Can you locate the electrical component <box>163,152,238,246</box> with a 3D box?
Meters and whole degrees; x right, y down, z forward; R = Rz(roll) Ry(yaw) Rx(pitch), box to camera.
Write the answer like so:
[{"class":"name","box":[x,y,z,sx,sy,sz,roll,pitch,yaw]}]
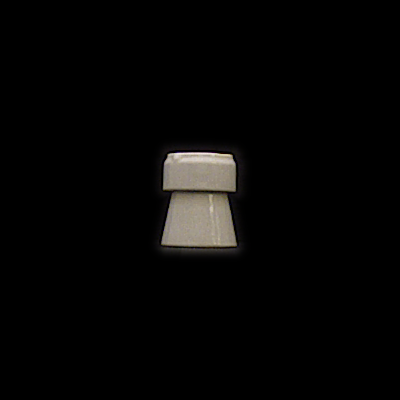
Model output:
[{"class":"electrical component","box":[0.000,0.000,0.650,0.045,0.055,0.045,1,1,0]}]
